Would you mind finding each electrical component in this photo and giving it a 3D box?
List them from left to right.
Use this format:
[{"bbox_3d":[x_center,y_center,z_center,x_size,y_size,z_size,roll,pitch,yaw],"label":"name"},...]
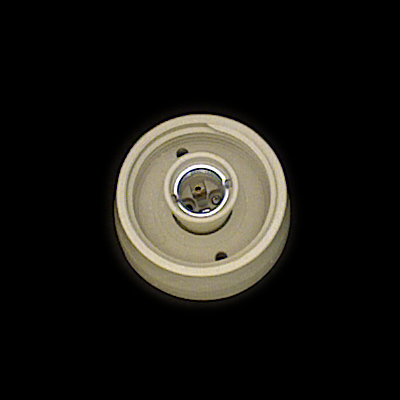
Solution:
[{"bbox_3d":[0.000,0.000,0.634,0.108,0.108,0.060,0,-16,0],"label":"electrical component"}]
